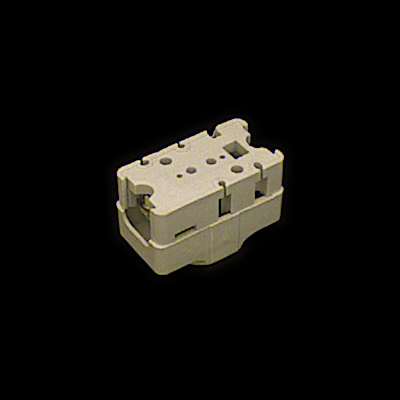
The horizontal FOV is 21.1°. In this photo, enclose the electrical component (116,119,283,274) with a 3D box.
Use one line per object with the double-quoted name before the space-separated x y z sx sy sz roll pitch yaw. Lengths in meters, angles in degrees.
"electrical component" 0.000 0.000 0.640 0.090 0.056 0.049 -24 48 -26
